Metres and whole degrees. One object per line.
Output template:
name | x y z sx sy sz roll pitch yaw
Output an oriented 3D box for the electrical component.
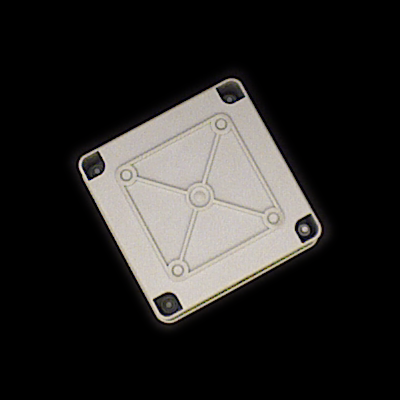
electrical component | 0.000 0.000 0.629 0.109 0.109 0.056 -28 -5 -4
